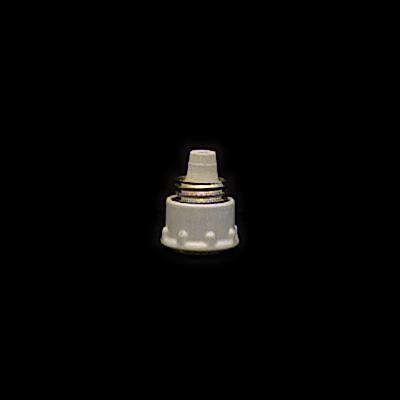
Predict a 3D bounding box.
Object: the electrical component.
[{"bbox_3d":[0.000,0.000,0.652,0.048,0.062,0.048,2,12,0],"label":"electrical component"}]
